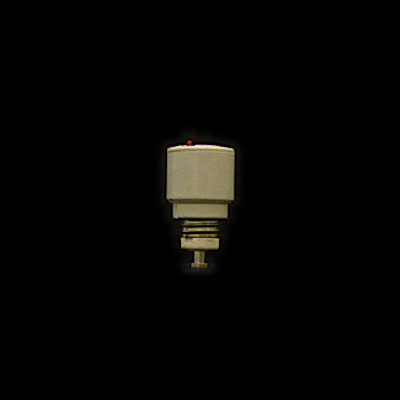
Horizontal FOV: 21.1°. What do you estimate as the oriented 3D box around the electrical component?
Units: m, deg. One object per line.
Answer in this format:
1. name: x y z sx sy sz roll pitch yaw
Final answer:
1. electrical component: 0.000 0.000 0.652 0.040 0.078 0.040 1 1 0
